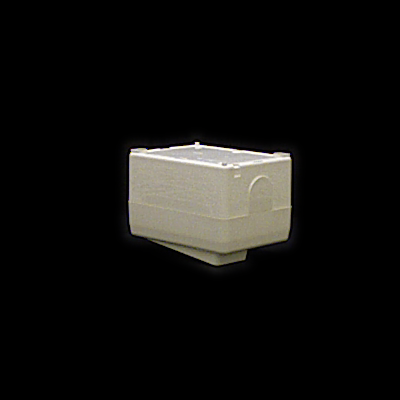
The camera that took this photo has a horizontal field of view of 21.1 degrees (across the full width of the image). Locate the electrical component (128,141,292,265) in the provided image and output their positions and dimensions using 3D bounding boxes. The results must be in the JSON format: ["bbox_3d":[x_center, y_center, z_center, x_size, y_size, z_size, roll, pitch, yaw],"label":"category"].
[{"bbox_3d":[0.000,0.000,0.648,0.095,0.061,0.062,11,15,42],"label":"electrical component"}]
